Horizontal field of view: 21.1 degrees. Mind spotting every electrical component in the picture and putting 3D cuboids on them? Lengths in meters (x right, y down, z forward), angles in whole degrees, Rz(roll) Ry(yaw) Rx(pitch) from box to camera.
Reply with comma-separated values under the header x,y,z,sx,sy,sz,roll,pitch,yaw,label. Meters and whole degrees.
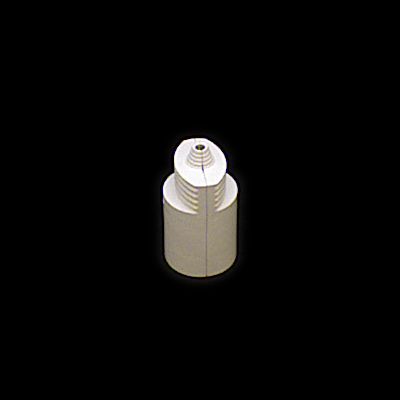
x,y,z,sx,sy,sz,roll,pitch,yaw,label
0.000,0.000,0.624,0.043,0.082,0.042,0,41,0,electrical component
